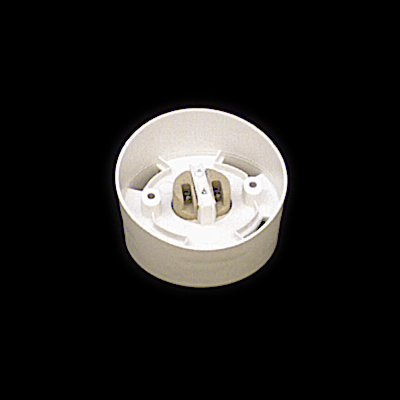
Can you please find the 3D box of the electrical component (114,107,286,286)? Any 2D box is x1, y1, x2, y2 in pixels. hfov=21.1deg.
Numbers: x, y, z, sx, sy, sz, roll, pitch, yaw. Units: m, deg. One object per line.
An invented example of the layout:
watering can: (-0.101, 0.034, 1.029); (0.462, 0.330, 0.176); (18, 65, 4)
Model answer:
electrical component: (0.000, 0.000, 0.629); (0.099, 0.065, 0.098); (0, 41, 0)
